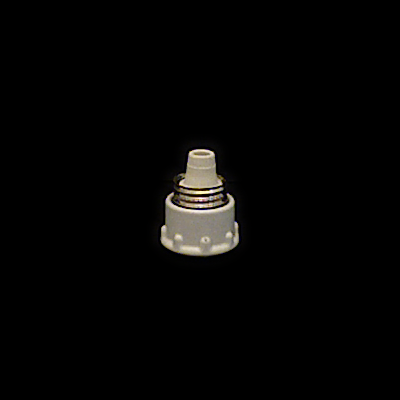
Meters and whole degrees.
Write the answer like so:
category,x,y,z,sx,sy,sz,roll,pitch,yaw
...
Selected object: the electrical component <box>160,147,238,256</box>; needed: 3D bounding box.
category,x,y,z,sx,sy,sz,roll,pitch,yaw
electrical component,0.000,0.000,0.647,0.048,0.063,0.047,2,21,0
